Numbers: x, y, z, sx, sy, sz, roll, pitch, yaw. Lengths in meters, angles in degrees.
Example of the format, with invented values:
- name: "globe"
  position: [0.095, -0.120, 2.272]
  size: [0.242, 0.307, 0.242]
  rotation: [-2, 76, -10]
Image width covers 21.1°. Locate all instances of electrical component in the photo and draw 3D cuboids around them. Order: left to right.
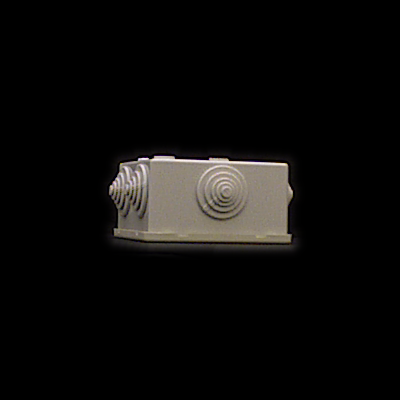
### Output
- name: "electrical component"
  position: [0.000, 0.000, 0.650]
  size: [0.100, 0.048, 0.099]
  rotation: [1, 0, -17]
